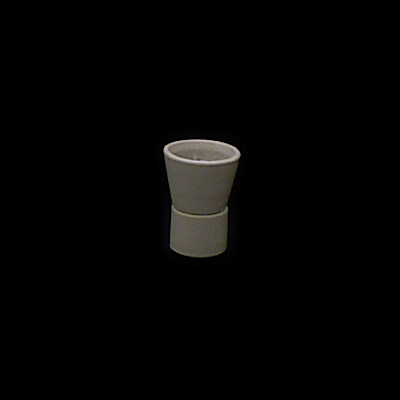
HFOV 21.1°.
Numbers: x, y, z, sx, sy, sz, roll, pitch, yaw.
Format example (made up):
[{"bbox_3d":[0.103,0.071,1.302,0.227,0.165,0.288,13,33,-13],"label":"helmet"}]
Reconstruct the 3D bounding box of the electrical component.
[{"bbox_3d":[0.000,0.000,0.639,0.044,0.066,0.044,2,21,-1],"label":"electrical component"}]
